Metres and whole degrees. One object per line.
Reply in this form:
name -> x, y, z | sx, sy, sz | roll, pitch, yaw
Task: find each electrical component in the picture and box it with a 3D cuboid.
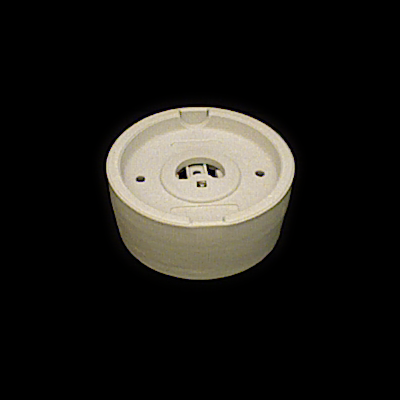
electrical component -> 0.000, 0.000, 0.635 | 0.108, 0.061, 0.107 | 1, 42, 0
